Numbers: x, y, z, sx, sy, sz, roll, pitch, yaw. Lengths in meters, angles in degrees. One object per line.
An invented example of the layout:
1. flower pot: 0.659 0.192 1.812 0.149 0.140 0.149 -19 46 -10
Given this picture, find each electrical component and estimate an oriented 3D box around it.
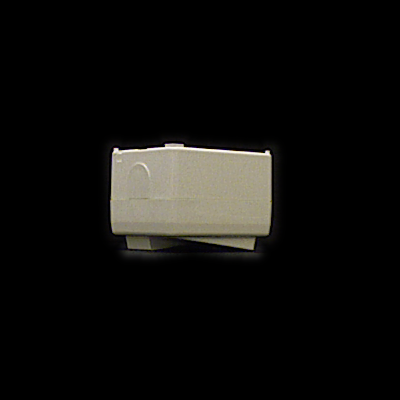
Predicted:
1. electrical component: 0.000 0.000 0.657 0.096 0.061 0.062 1 0 -40
